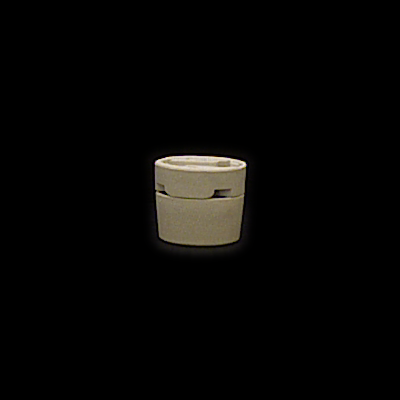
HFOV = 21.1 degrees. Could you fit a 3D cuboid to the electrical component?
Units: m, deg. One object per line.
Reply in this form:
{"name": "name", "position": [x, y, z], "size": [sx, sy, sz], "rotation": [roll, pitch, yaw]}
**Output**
{"name": "electrical component", "position": [0.000, 0.000, 0.646], "size": [0.055, 0.047, 0.055], "rotation": [1, 11, 0]}
